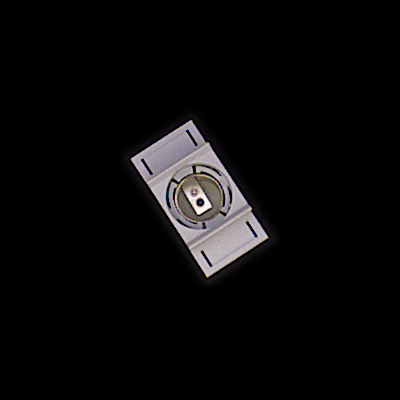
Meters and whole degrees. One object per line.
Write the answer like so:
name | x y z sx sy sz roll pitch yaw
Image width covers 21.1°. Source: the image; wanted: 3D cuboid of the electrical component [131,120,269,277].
electrical component | 0.000 0.000 0.625 0.042 0.081 0.063 -33 -5 -2
